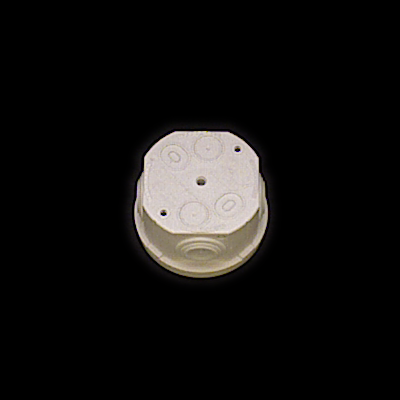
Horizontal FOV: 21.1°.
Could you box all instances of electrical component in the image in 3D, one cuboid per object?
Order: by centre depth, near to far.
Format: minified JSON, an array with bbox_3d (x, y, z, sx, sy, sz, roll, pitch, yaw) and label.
[{"bbox_3d":[0.000,0.000,0.632,0.080,0.080,0.050,0,-28,0],"label":"electrical component"}]
